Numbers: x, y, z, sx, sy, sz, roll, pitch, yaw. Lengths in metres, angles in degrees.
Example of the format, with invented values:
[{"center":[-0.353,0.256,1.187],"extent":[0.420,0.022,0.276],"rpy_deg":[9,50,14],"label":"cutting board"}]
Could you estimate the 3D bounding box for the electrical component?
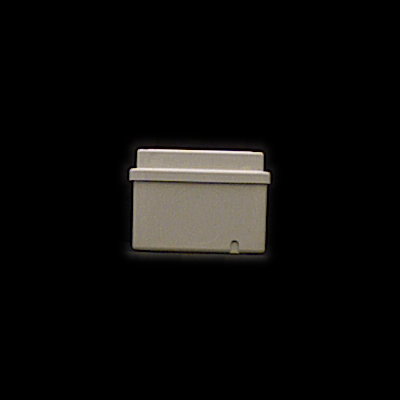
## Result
[{"center":[0.000,0.000,0.649],"extent":[0.078,0.057,0.113],"rpy_deg":[1,0,1],"label":"electrical component"}]
